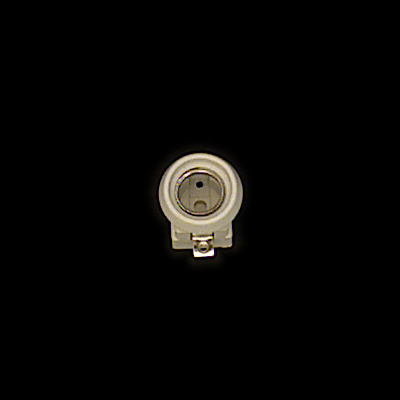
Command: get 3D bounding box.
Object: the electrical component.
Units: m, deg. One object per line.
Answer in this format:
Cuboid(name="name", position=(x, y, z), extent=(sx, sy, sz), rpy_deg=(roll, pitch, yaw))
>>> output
Cuboid(name="electrical component", position=(0.000, 0.000, 0.637), extent=(0.048, 0.066, 0.055), rpy_deg=(-5, -16, 1))
